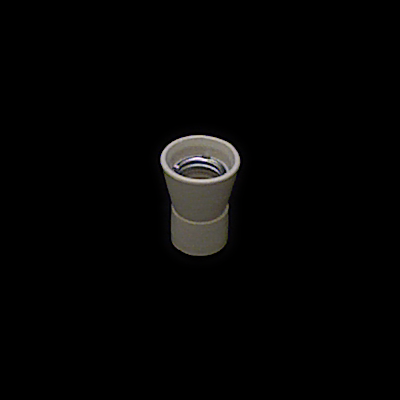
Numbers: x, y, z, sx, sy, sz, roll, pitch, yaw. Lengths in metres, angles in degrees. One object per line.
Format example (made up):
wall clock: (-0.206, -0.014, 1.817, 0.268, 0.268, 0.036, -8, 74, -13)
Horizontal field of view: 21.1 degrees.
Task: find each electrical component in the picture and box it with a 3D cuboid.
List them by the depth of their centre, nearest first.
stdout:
electrical component: (0.000, 0.000, 0.631, 0.044, 0.066, 0.044, 0, 41, 0)
